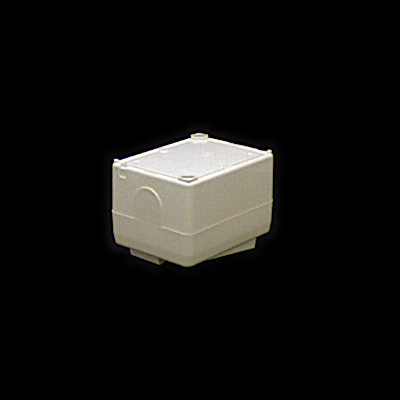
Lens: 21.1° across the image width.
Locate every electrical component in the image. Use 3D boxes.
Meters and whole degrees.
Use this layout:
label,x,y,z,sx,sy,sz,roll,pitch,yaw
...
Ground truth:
label,x,y,z,sx,sy,sz,roll,pitch,yaw
electrical component,0.000,0.000,0.646,0.061,0.062,0.095,17,26,37
